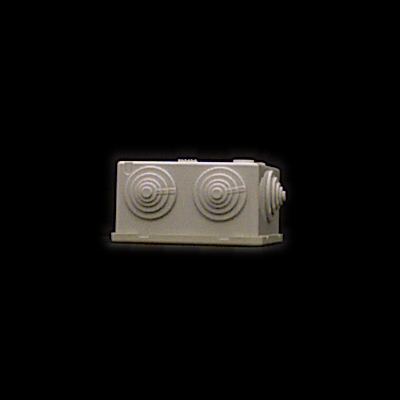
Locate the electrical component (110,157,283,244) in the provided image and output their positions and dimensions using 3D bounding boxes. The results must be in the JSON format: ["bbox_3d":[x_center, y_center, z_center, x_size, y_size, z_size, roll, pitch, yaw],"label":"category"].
[{"bbox_3d":[0.000,0.000,0.649,0.099,0.048,0.100,1,0,12],"label":"electrical component"}]
